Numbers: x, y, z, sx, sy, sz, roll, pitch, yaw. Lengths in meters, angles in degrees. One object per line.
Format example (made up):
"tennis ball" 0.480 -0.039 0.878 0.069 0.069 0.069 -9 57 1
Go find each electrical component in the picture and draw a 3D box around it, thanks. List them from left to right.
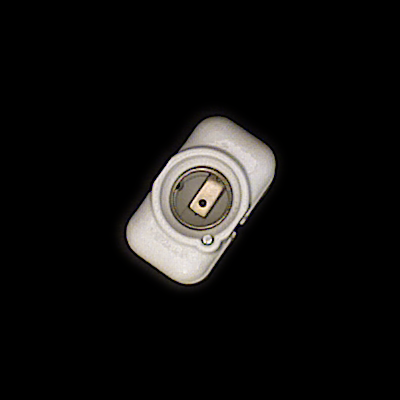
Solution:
"electrical component" 0.000 0.000 0.635 0.054 0.095 0.059 34 -4 4
